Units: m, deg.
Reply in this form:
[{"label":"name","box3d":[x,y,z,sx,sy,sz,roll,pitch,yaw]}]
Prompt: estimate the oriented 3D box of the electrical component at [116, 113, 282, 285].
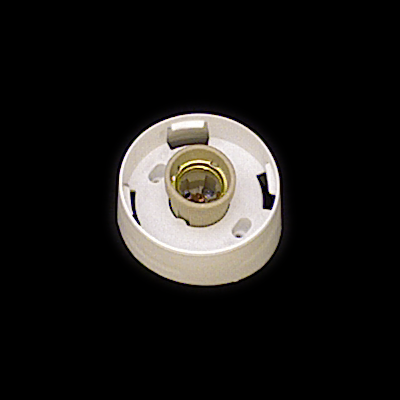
[{"label":"electrical component","box3d":[0.000,0.000,0.625,0.099,0.099,0.064,0,-27,0]}]
